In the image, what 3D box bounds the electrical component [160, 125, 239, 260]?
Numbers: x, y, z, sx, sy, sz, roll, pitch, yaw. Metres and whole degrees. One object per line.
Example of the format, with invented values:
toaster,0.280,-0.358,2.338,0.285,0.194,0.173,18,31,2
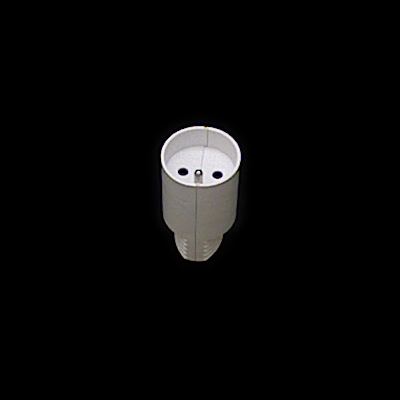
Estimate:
electrical component,0.000,0.000,0.618,0.043,0.043,0.081,0,-37,0
